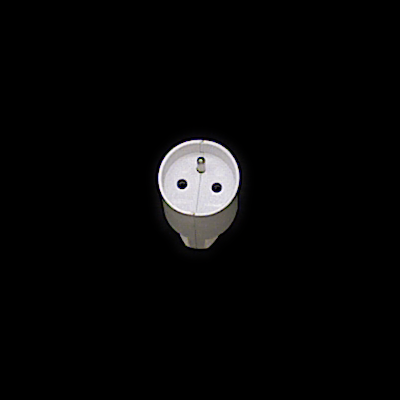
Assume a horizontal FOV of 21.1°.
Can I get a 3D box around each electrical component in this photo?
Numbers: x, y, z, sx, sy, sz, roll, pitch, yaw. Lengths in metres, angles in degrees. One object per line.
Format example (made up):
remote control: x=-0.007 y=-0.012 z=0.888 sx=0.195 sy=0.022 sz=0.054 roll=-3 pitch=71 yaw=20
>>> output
electrical component: x=0.000 y=0.000 z=0.616 sx=0.043 sy=0.043 sz=0.080 roll=0 pitch=-17 yaw=-1
